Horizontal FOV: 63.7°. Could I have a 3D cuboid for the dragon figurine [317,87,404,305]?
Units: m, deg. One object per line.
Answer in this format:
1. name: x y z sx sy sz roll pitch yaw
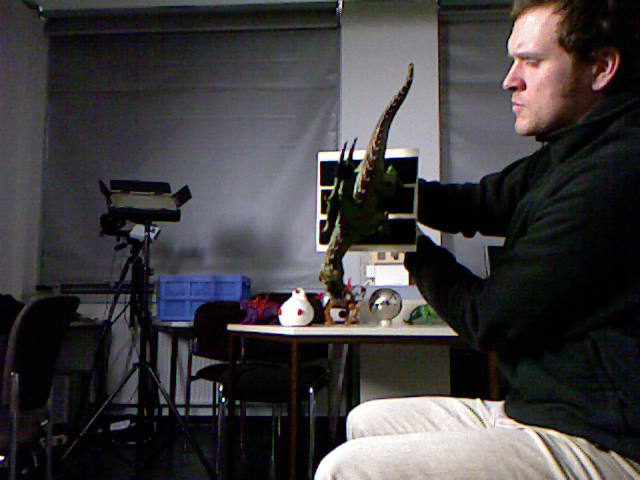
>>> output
1. dragon figurine: 0.070 -0.091 0.915 0.123 0.411 0.244 13 5 13
